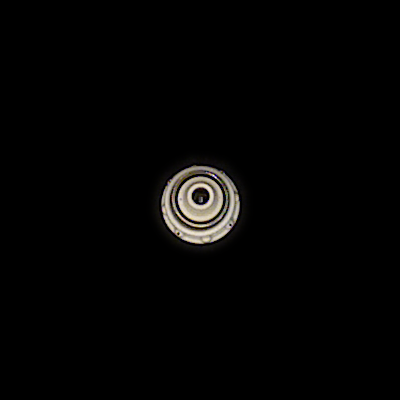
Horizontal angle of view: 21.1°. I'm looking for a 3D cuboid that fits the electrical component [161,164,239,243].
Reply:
[{"bbox_3d":[0.000,0.000,0.635,0.048,0.048,0.062,0,-5,-1],"label":"electrical component"}]
